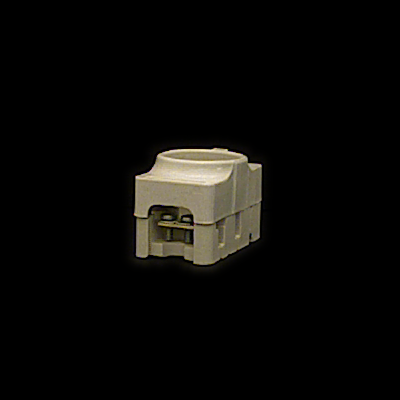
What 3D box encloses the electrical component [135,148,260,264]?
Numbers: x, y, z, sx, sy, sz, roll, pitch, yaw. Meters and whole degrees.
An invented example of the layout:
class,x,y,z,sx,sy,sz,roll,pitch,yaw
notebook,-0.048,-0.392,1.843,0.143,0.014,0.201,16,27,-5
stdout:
class,x,y,z,sx,sy,sz,roll,pitch,yaw
electrical component,0.000,0.000,0.651,0.050,0.056,0.089,6,12,21
